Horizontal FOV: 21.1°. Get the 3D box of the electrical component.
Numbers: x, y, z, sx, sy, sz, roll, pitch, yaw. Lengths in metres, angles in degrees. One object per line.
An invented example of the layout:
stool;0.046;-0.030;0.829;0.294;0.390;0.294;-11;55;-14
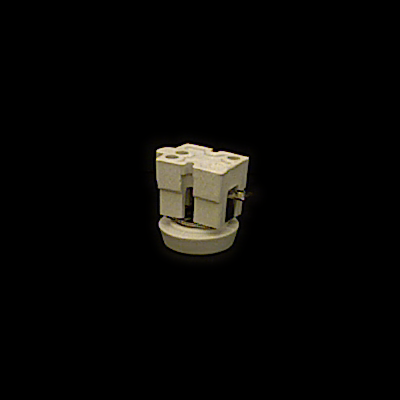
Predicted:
electrical component;0.000;0.000;0.647;0.066;0.056;0.048;13;24;26
